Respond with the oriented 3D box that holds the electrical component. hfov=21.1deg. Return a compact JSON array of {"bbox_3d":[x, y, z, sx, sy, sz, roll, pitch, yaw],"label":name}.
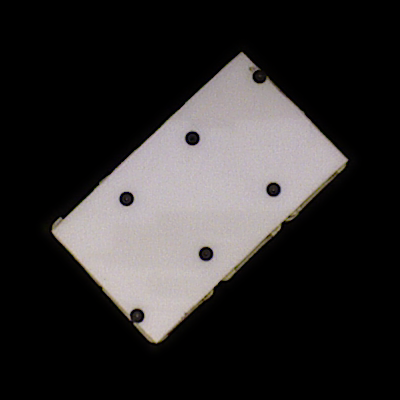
[{"bbox_3d":[0.000,0.000,0.630,0.150,0.089,0.061,-43,-5,-4],"label":"electrical component"}]
